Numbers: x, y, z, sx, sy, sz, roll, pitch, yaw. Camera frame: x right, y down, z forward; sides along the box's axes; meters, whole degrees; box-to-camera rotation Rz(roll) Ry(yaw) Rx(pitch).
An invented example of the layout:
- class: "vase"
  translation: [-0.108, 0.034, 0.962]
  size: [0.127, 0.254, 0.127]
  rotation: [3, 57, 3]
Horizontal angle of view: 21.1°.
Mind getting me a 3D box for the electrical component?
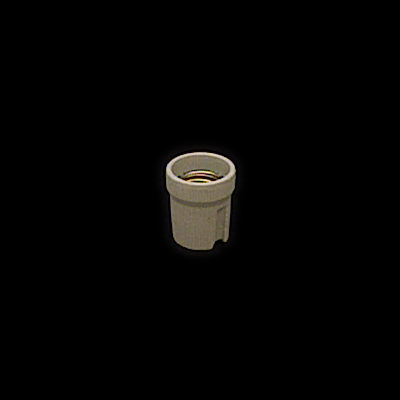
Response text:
- class: "electrical component"
  translation: [0.000, 0.000, 0.637]
  size: [0.040, 0.047, 0.039]
  rotation: [1, 31, 0]
